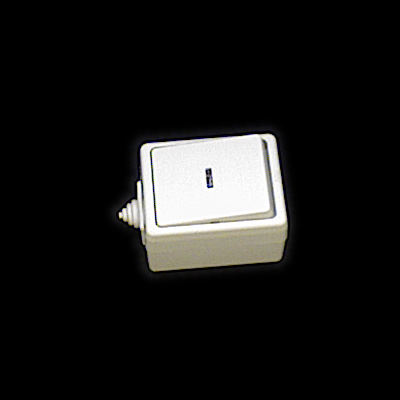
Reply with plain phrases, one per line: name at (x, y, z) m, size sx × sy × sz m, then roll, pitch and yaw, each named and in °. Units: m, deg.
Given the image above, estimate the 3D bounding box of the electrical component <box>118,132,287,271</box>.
electrical component at (0.000, 0.000, 0.626) m, size 0.096 × 0.062 × 0.061 m, roll -5°, pitch -27°, yaw -2°
